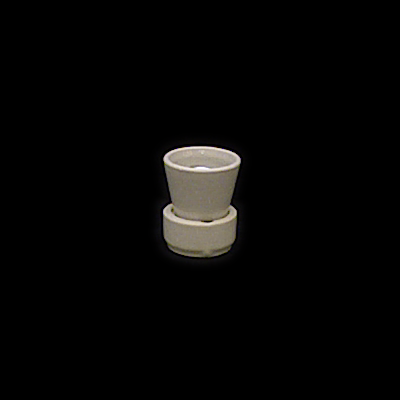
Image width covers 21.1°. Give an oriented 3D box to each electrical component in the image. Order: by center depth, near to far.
[{"bbox_3d":[0.000,0.000,0.641,0.045,0.056,0.044,2,21,0],"label":"electrical component"}]
